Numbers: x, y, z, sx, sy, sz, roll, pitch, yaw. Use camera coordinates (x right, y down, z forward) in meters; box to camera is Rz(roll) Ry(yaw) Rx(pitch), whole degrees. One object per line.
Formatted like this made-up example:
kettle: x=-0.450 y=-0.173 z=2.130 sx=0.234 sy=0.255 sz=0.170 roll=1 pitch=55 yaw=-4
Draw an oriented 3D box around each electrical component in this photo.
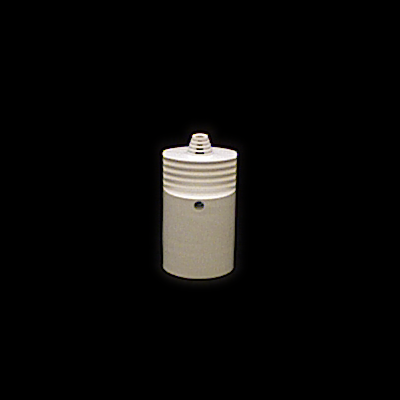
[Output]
electrical component: x=0.000 y=0.000 z=0.635 sx=0.043 sy=0.082 sz=0.042 roll=1 pitch=21 yaw=0
